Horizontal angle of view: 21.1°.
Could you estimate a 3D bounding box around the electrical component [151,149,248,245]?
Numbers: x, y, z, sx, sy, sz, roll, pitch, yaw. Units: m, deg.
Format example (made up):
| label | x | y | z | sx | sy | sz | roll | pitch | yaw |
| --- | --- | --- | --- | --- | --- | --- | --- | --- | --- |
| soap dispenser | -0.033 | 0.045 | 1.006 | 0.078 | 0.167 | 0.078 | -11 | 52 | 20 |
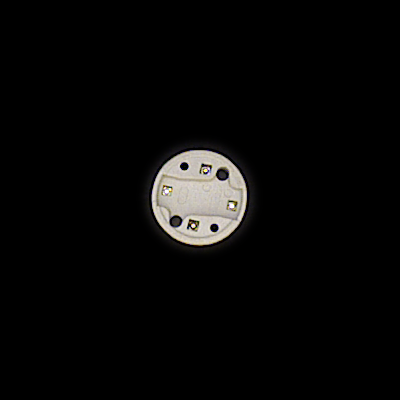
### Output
| label | x | y | z | sx | sy | sz | roll | pitch | yaw |
| --- | --- | --- | --- | --- | --- | --- | --- | --- | --- |
| electrical component | 0.000 | 0.000 | 0.636 | 0.055 | 0.055 | 0.047 | 0 | -7 | 0 |
